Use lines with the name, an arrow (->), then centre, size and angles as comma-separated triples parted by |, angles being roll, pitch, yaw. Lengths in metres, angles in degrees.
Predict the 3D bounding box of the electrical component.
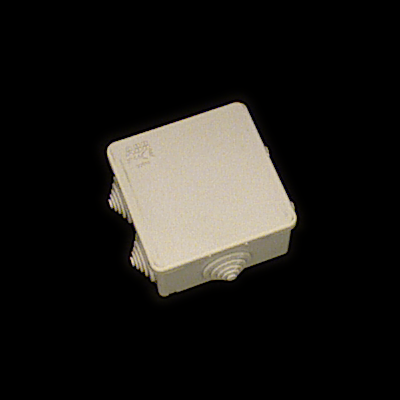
electrical component -> 0.000, 0.000, 0.640 | 0.100, 0.099, 0.048 | -19, -25, -9
